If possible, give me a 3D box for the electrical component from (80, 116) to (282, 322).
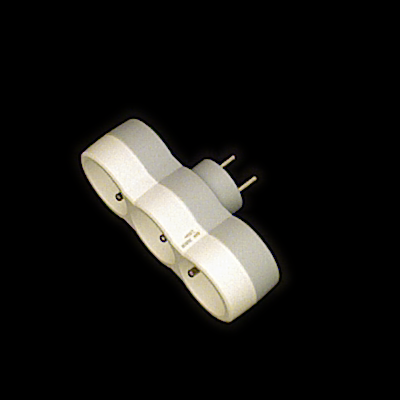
[{"bbox_3d":[0.000,0.000,0.638,0.074,0.137,0.052,-38,-20,-19],"label":"electrical component"}]
